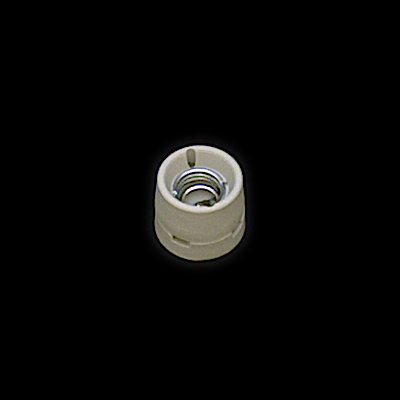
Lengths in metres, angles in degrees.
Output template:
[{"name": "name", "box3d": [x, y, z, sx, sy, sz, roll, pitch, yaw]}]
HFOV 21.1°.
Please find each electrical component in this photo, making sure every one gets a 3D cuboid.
[{"name": "electrical component", "box3d": [0.000, 0.000, 0.633, 0.055, 0.055, 0.047, 0, -36, 0]}]
